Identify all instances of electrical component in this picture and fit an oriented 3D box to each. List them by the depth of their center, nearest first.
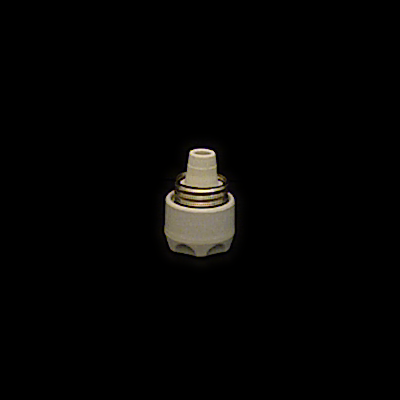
[{"bbox_3d":[0.000,0.000,0.646,0.043,0.063,0.043,2,21,0],"label":"electrical component"}]
